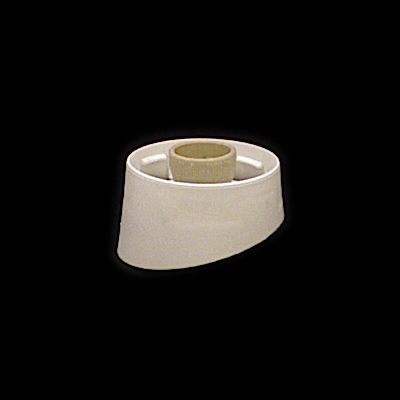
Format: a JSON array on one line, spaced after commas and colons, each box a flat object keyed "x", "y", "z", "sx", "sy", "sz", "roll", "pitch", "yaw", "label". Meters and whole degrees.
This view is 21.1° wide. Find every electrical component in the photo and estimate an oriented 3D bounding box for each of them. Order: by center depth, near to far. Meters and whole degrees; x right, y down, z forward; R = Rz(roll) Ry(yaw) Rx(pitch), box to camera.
[{"x": 0.000, "y": 0.000, "z": 0.639, "sx": 0.099, "sy": 0.065, "sz": 0.097, "roll": 1, "pitch": 21, "yaw": 0, "label": "electrical component"}]
